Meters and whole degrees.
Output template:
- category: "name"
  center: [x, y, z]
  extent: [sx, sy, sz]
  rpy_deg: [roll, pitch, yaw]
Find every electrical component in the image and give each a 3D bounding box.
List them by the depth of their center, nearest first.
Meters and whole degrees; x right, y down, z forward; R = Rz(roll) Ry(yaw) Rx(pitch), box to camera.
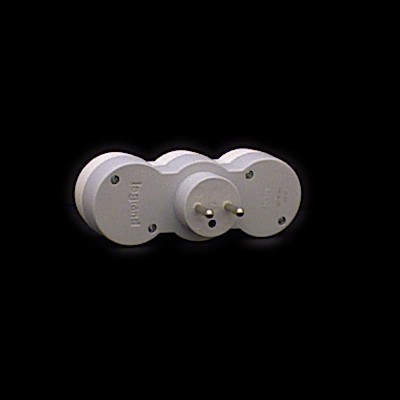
- category: "electrical component"
  center: [0.000, 0.000, 0.647]
  extent: [0.138, 0.052, 0.073]
  rpy_deg: [-2, 13, -24]
